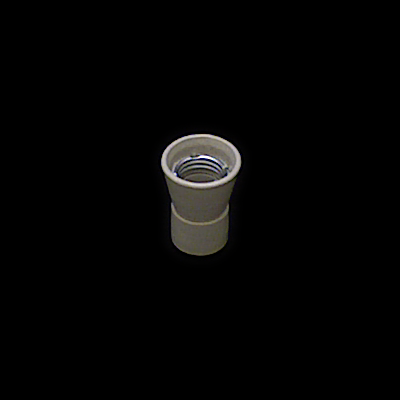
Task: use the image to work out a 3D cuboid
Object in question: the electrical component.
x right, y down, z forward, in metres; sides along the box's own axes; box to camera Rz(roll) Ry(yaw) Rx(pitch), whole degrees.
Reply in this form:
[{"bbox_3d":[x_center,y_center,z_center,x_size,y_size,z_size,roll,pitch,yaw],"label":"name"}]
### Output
[{"bbox_3d":[0.000,0.000,0.628,0.044,0.066,0.044,1,43,-1],"label":"electrical component"}]
